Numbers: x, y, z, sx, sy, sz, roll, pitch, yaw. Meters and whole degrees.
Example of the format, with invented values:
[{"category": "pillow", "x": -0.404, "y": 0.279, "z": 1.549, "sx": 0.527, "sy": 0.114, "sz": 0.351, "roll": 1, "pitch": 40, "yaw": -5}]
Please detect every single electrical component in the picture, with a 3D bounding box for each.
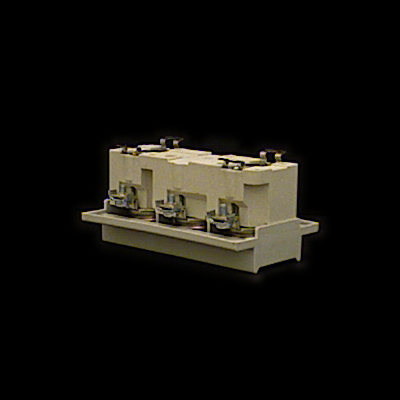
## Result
[{"category": "electrical component", "x": 0.000, "y": 0.000, "z": 0.648, "sx": 0.120, "sy": 0.063, "sz": 0.079, "roll": 10, "pitch": 15, "yaw": 39}]
